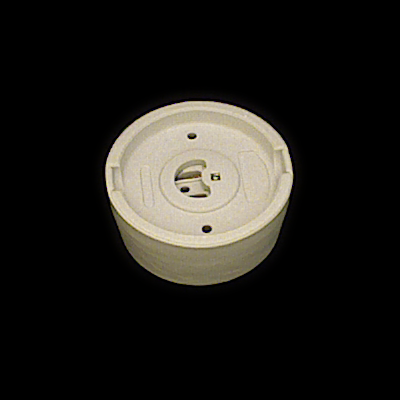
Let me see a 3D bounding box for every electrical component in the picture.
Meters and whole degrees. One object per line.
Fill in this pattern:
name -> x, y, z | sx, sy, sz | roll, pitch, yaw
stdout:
electrical component -> 0.000, 0.000, 0.637 | 0.108, 0.107, 0.061 | 0, -37, 0
